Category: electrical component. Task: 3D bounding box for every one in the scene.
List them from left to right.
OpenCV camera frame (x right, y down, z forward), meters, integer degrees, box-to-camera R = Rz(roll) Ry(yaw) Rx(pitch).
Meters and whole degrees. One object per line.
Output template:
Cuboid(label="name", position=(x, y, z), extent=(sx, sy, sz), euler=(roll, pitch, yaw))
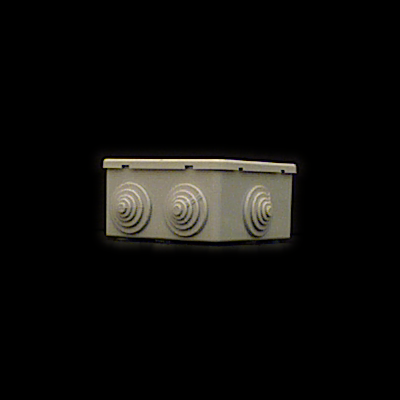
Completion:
Cuboid(label="electrical component", position=(0.000, 0.000, 0.658), extent=(0.099, 0.048, 0.100), euler=(2, 1, 35))
